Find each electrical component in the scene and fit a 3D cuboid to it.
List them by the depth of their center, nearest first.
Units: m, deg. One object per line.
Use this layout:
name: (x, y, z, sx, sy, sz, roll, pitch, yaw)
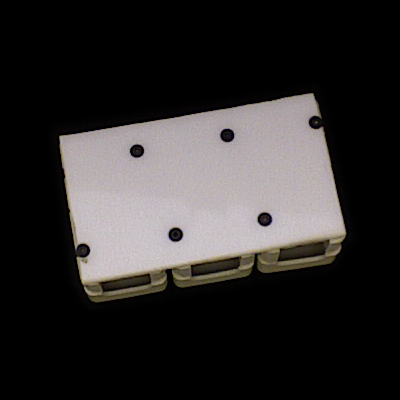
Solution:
electrical component: (0.000, 0.000, 0.631, 0.150, 0.089, 0.062, -9, -16, -3)
